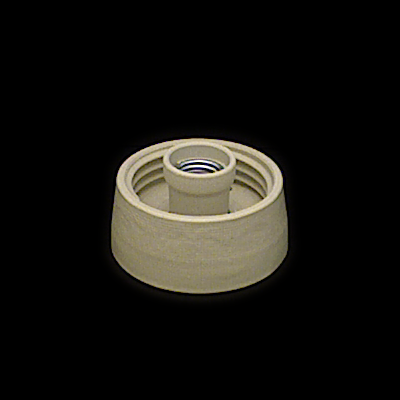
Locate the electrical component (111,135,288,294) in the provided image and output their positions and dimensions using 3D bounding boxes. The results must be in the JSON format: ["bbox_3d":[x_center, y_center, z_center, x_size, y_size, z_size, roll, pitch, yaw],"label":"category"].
[{"bbox_3d":[0.000,0.000,0.641,0.108,0.061,0.106,1,32,0],"label":"electrical component"}]
